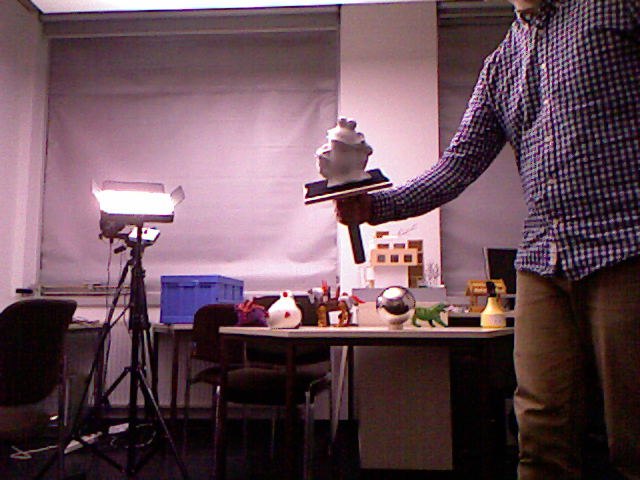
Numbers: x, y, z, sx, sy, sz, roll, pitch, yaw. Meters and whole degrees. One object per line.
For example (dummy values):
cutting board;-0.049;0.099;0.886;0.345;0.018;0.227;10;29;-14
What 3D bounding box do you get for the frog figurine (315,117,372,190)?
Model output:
frog figurine;0.053;-0.214;1.227;0.137;0.157;0.125;-6;20;15
